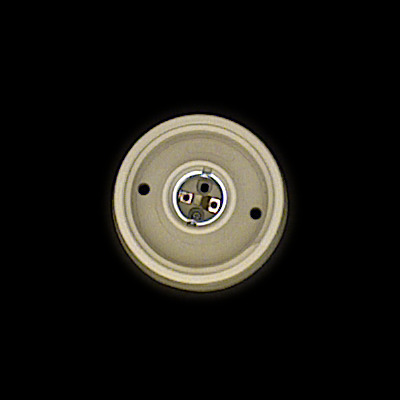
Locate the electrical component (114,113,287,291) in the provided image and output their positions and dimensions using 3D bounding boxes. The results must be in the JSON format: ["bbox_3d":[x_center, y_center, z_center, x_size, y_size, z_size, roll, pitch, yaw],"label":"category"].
[{"bbox_3d":[0.000,0.000,0.634,0.108,0.108,0.060,0,-6,0],"label":"electrical component"}]
